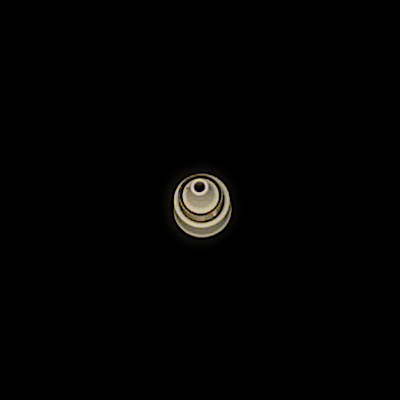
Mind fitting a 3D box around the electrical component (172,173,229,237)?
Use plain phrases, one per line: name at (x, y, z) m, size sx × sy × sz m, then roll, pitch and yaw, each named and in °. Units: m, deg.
electrical component at (0.000, 0.000, 0.636) m, size 0.035 × 0.035 × 0.061 m, roll 0°, pitch -16°, yaw 3°
